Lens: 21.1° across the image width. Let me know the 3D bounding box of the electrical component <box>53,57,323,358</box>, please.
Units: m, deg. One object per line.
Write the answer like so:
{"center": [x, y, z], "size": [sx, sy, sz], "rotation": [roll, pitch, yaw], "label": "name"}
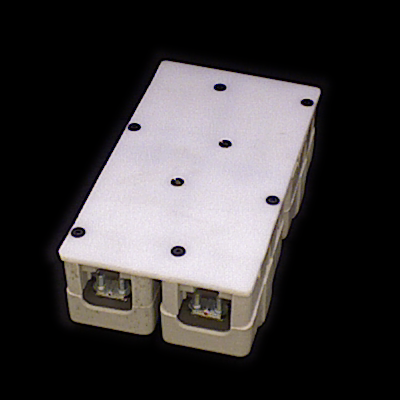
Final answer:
{"center": [0.000, 0.000, 0.630], "size": [0.105, 0.061, 0.185], "rotation": [11, 43, 11], "label": "electrical component"}
